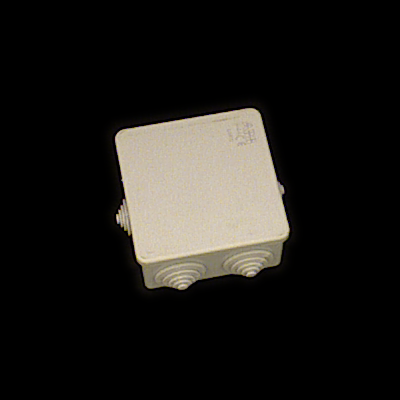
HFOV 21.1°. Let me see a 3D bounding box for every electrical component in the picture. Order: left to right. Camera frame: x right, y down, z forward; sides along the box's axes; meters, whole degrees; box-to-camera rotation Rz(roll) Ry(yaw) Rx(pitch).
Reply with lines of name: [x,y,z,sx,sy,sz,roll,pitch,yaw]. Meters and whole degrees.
electrical component: [0.000,0.000,0.641,0.100,0.099,0.048,-10,-26,-5]
